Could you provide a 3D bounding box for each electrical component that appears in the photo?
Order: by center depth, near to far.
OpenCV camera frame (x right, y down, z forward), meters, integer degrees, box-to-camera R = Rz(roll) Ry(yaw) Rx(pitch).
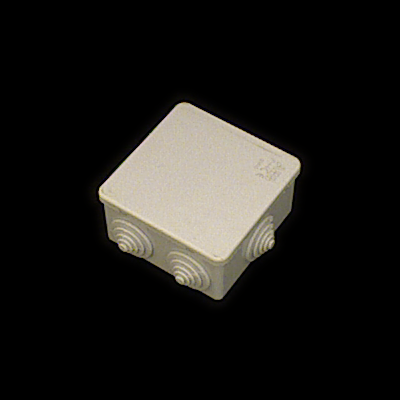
[{"bbox_3d":[0.000,0.000,0.641,0.099,0.100,0.049,29,-32,19],"label":"electrical component"}]
